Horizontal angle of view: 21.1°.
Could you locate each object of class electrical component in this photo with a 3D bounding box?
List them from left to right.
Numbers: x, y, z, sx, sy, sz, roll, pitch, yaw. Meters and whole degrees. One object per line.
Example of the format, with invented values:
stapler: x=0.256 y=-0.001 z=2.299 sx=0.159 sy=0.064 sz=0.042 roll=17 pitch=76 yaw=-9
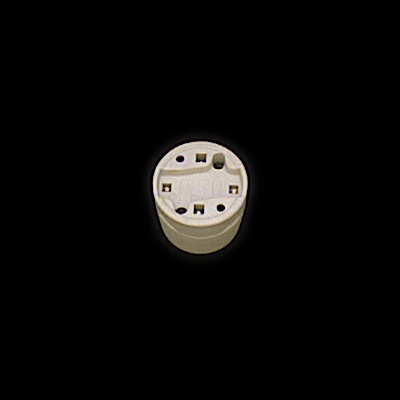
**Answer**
electrical component: x=0.000 y=0.000 z=0.634 sx=0.055 sy=0.056 sz=0.047 roll=0 pitch=-28 yaw=-1
